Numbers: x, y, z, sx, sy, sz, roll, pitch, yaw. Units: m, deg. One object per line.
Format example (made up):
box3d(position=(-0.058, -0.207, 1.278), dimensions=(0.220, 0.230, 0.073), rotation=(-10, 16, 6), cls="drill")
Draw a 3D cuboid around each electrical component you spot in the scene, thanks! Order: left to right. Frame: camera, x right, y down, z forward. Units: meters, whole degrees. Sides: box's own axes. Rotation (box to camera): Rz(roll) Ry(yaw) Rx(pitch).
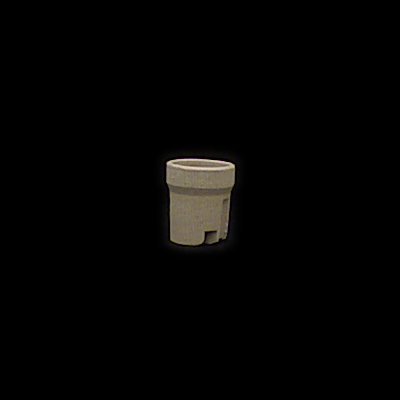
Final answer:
box3d(position=(0.000, 0.000, 0.643), dimensions=(0.040, 0.046, 0.040), rotation=(1, 11, 0), cls="electrical component")
